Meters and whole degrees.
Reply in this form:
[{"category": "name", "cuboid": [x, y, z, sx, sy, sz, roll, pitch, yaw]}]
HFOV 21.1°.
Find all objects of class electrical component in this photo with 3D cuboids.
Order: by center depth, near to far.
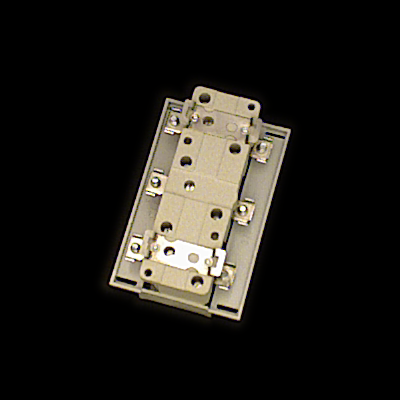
[{"category": "electrical component", "cuboid": [0.000, 0.000, 0.633, 0.078, 0.122, 0.062, 15, -15, 4]}]
